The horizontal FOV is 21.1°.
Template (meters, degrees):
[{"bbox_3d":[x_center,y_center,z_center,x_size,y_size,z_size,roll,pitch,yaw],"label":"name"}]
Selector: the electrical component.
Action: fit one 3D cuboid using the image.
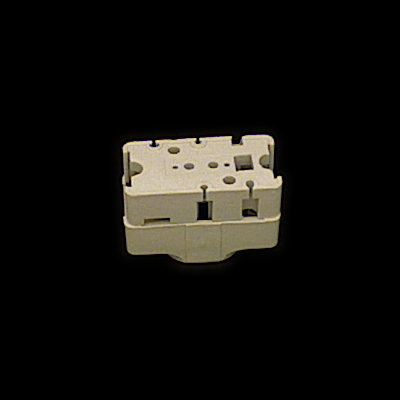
[{"bbox_3d":[0.000,0.000,0.640,0.090,0.056,0.049,-3,42,-4],"label":"electrical component"}]
